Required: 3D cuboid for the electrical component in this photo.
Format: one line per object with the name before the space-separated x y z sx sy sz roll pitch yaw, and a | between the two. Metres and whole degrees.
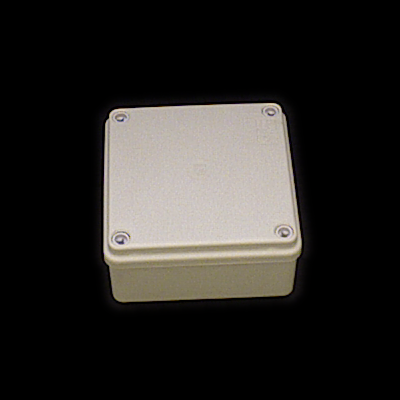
electrical component | 0.000 0.000 0.630 0.109 0.108 0.056 -2 -38 -2
